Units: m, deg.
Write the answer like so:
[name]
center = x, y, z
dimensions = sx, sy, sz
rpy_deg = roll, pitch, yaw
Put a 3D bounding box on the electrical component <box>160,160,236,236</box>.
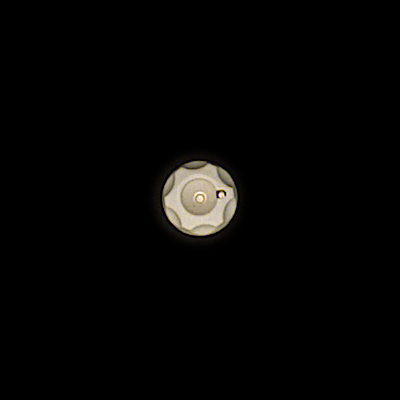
[electrical component]
center = 0.000, 0.000, 0.635
dimensions = 0.043, 0.043, 0.062
rpy_deg = 0, -5, 2
